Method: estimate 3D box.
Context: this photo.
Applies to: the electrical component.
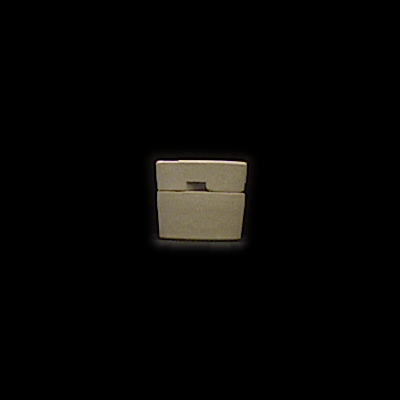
[{"bbox_3d":[0.000,0.000,0.649,0.055,0.047,0.055,1,0,0],"label":"electrical component"}]
